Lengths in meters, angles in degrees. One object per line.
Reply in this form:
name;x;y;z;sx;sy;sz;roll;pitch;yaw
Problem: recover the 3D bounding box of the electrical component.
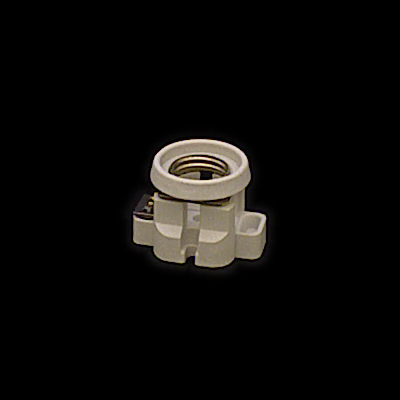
electrical component;0.000;0.000;0.634;0.078;0.057;0.057;7;32;10
